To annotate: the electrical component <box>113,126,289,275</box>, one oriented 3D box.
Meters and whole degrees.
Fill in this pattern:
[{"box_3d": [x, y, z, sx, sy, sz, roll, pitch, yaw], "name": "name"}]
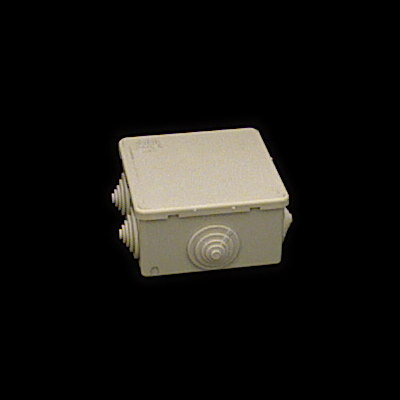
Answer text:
[{"box_3d": [0.000, 0.000, 0.644, 0.100, 0.049, 0.098, -5, 33, -9], "name": "electrical component"}]
